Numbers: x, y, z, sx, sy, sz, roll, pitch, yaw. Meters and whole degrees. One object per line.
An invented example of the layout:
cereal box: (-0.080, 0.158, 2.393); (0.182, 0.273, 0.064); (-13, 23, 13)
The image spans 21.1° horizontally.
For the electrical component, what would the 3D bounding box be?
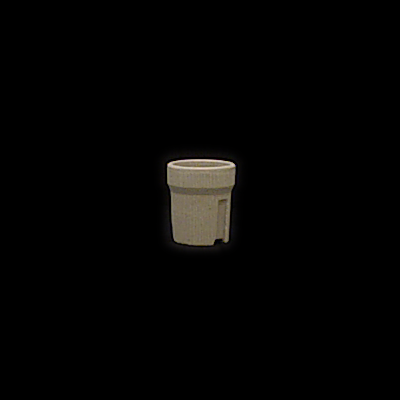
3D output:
electrical component: (0.000, 0.000, 0.646); (0.040, 0.046, 0.040); (1, 11, 0)
